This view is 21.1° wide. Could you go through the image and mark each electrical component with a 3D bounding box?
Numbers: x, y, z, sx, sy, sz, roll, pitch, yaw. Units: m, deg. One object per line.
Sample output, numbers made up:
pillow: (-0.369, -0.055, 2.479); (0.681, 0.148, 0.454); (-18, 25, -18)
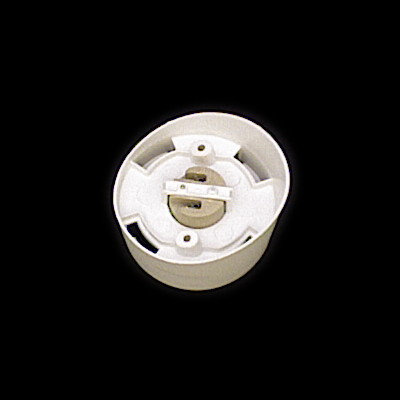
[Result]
electrical component: (0.000, 0.000, 0.625); (0.099, 0.099, 0.064); (0, -28, -1)
